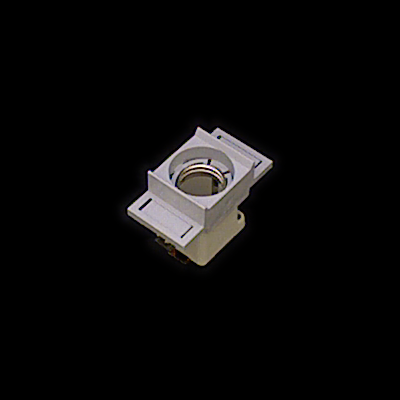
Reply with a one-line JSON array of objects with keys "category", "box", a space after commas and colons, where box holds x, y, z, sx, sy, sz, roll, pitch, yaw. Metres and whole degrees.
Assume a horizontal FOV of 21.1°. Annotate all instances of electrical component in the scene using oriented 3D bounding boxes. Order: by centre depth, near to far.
[{"category": "electrical component", "box": [0.000, 0.000, 0.624, 0.042, 0.064, 0.081, 34, 59, 22]}]
